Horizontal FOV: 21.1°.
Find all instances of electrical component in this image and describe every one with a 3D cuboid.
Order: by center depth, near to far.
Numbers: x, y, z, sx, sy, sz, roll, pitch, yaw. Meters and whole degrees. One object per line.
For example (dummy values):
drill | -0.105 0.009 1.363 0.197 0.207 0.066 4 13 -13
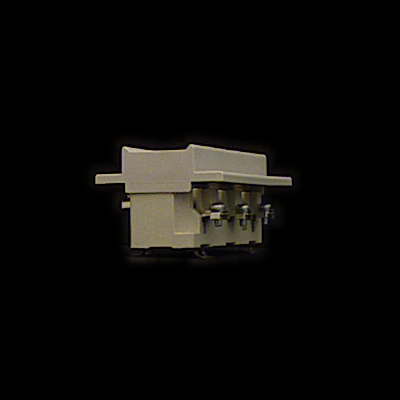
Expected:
electrical component | 0.000 0.000 0.662 0.078 0.063 0.122 0 0 23
